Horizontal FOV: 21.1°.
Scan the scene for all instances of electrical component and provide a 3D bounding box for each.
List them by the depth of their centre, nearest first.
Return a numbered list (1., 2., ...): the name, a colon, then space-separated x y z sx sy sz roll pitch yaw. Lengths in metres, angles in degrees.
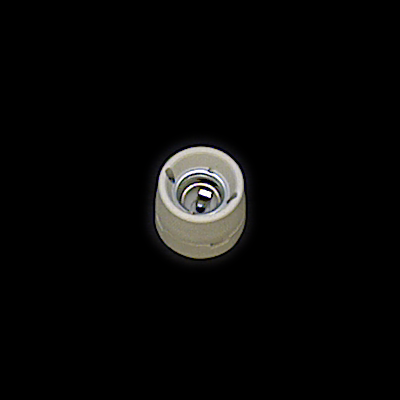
1. electrical component: 0.000 0.000 0.632 0.055 0.056 0.047 0 -26 -1
